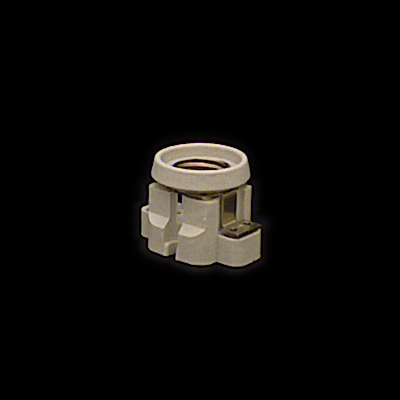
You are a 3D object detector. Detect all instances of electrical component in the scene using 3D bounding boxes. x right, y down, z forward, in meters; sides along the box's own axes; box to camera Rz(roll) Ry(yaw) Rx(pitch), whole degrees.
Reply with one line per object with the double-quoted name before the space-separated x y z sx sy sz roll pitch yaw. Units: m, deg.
"electrical component" 0.000 0.000 0.639 0.078 0.057 0.057 18 27 36
